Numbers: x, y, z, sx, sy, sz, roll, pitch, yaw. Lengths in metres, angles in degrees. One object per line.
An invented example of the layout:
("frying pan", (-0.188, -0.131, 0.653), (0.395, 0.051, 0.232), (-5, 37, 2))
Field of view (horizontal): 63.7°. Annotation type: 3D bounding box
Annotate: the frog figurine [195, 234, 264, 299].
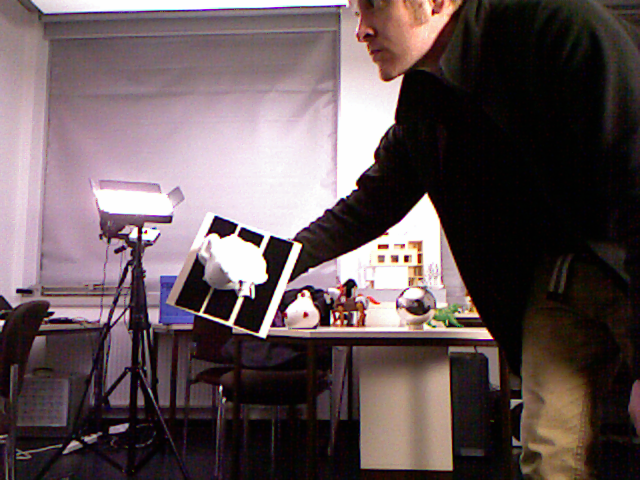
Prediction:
("frog figurine", (-0.169, 0.039, 0.944), (0.138, 0.124, 0.157), (39, -19, 10))
